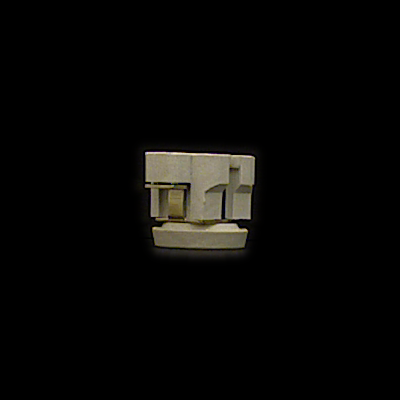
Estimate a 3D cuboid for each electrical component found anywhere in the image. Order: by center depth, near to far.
[{"bbox_3d":[0.000,0.000,0.655,0.057,0.057,0.079,3,3,40],"label":"electrical component"}]
